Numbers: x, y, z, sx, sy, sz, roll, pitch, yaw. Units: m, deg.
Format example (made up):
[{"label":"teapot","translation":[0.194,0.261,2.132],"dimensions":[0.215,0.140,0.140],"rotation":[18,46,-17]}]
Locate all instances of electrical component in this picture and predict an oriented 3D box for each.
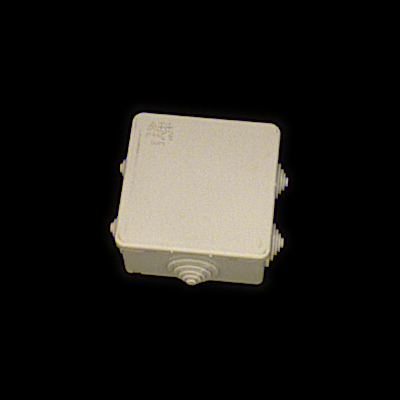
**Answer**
[{"label":"electrical component","translation":[0.000,0.000,0.640],"dimensions":[0.099,0.100,0.048],"rotation":[5,-26,2]}]
